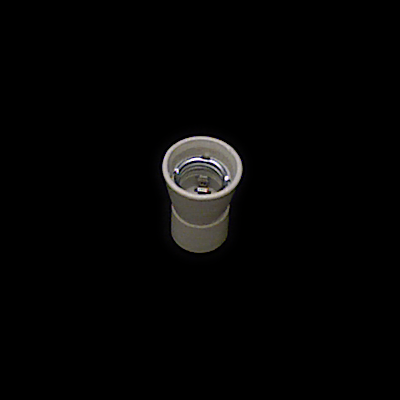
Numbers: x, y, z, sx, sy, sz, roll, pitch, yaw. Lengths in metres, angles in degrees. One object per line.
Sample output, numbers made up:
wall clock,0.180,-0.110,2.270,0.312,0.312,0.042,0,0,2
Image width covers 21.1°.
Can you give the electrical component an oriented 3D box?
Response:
electrical component,0.000,0.000,0.626,0.044,0.044,0.065,0,-38,-2
